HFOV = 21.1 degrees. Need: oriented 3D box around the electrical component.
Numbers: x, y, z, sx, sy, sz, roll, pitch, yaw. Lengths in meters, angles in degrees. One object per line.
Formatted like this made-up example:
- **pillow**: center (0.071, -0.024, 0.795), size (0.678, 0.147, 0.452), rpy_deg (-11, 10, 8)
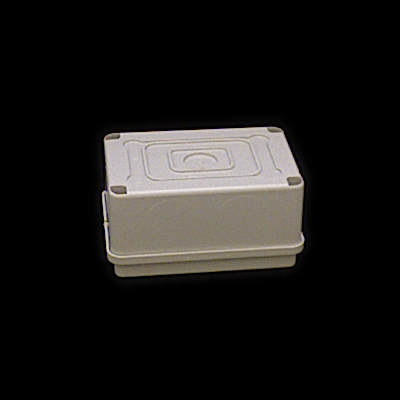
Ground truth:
- **electrical component**: center (0.000, 0.000, 0.635), size (0.113, 0.058, 0.077), rpy_deg (-3, 32, -6)
